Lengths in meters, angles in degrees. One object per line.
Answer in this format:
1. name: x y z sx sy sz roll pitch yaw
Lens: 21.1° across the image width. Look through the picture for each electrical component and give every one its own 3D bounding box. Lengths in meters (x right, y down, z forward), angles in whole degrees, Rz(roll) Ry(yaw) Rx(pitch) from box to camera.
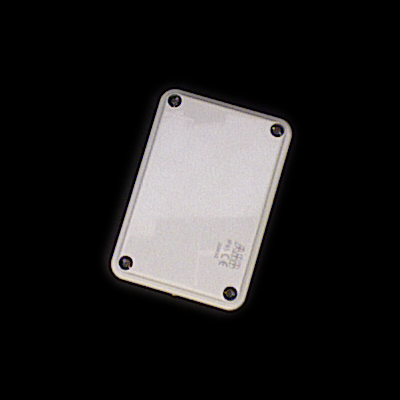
1. electrical component: 0.000 0.000 0.627 0.078 0.113 0.057 16 -7 2
